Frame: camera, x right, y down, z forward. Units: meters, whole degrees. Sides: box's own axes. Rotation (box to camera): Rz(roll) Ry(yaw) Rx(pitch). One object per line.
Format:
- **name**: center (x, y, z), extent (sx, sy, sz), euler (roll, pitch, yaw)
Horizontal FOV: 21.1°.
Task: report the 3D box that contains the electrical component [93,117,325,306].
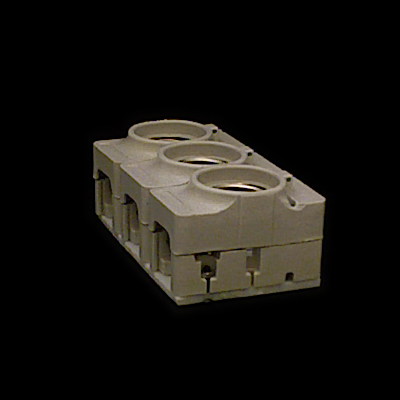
- **electrical component**: center (0.000, 0.000, 0.646), extent (0.089, 0.063, 0.147), euler (-7, 22, -22)
